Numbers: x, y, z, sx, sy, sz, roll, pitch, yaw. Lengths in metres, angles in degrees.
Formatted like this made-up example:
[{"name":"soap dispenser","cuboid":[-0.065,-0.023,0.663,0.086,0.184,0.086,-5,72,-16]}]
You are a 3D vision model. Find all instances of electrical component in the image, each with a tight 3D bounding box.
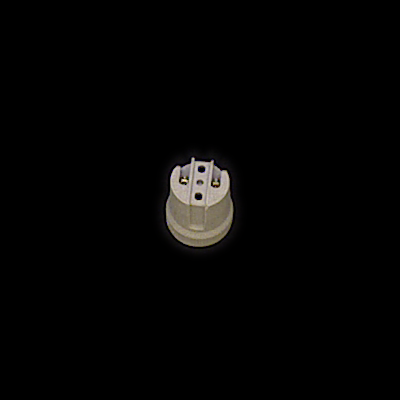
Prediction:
[{"name":"electrical component","cuboid":[0.000,0.000,0.634,0.040,0.040,0.046,0,-27,-1]}]
